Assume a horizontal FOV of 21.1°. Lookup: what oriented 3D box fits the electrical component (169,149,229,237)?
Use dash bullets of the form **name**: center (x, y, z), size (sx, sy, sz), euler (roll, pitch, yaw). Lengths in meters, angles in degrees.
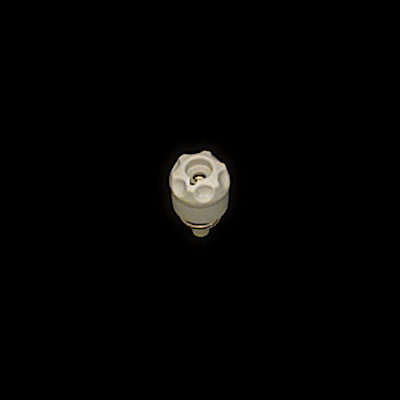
- **electrical component**: center (0.000, 0.000, 0.634), size (0.035, 0.035, 0.061), euler (0, -37, 0)
